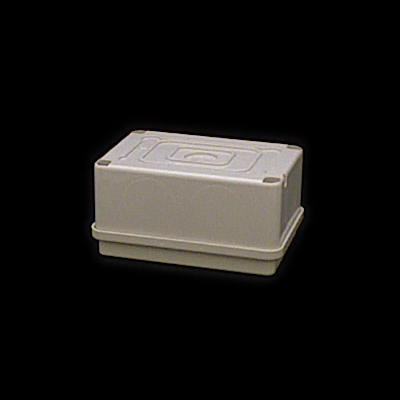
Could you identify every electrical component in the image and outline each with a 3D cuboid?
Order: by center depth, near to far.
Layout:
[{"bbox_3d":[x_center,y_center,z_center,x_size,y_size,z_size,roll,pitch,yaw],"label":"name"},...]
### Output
[{"bbox_3d":[0.000,0.000,0.639,0.113,0.058,0.077,6,22,14],"label":"electrical component"}]
